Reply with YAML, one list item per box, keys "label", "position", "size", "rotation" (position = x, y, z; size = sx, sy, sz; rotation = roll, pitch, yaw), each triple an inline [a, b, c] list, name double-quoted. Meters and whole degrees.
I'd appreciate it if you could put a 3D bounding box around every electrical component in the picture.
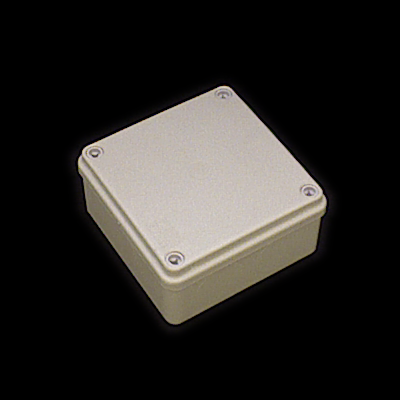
- label: "electrical component"
  position: [0.000, 0.000, 0.631]
  size: [0.109, 0.108, 0.056]
  rotation: [-26, -33, -20]
